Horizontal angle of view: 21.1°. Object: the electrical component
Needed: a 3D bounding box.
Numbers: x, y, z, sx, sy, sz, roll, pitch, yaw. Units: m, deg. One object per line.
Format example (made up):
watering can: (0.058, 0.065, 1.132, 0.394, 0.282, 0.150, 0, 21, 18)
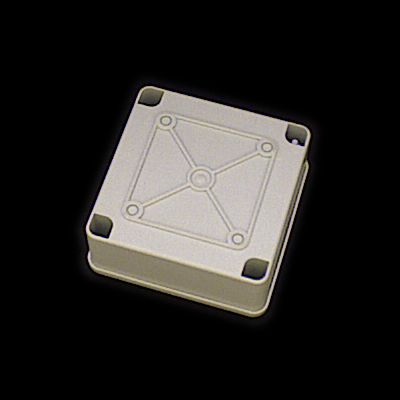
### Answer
electrical component: (0.000, 0.000, 0.629, 0.108, 0.109, 0.056, 15, -26, 7)
